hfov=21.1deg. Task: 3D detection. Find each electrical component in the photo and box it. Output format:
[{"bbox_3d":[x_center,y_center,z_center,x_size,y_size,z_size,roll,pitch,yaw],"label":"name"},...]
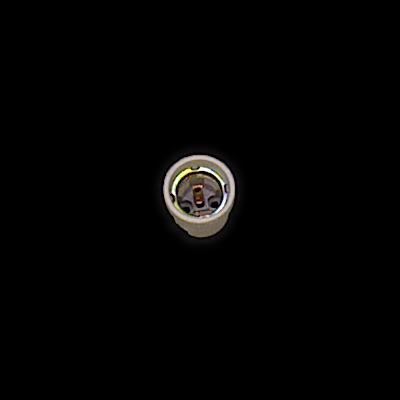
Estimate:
[{"bbox_3d":[0.000,0.000,0.627,0.040,0.040,0.046,0,-17,0],"label":"electrical component"}]
